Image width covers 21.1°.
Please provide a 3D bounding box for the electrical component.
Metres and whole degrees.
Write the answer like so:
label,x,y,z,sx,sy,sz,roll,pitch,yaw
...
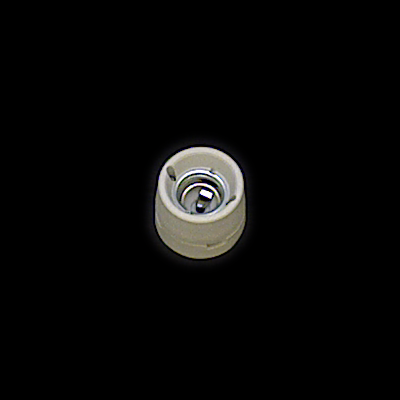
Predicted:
label,x,y,z,sx,sy,sz,roll,pitch,yaw
electrical component,0.000,0.000,0.632,0.055,0.056,0.047,0,-26,-1
